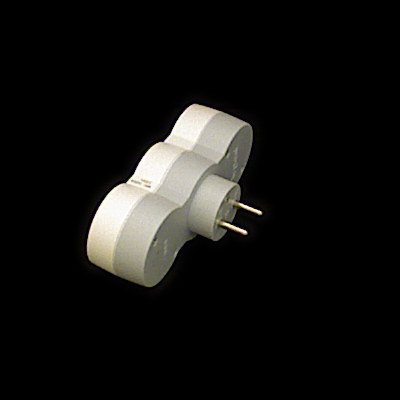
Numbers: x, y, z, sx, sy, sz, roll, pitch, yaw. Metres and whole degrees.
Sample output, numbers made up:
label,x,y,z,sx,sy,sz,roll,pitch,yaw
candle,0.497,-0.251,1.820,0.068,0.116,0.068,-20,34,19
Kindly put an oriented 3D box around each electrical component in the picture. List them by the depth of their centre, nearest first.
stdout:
label,x,y,z,sx,sy,sz,roll,pitch,yaw
electrical component,0.000,0.000,0.639,0.073,0.052,0.138,22,46,19
